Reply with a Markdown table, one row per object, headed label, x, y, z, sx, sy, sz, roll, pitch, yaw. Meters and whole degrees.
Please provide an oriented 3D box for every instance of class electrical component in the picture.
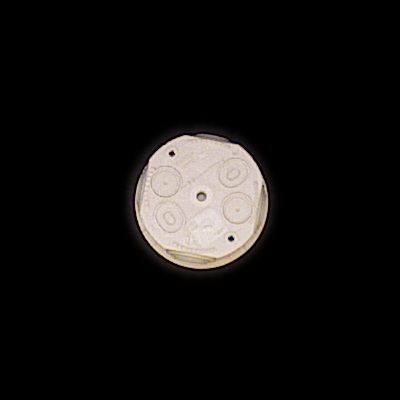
| label | x | y | z | sx | sy | sz | roll | pitch | yaw |
| --- | --- | --- | --- | --- | --- | --- | --- | --- | --- |
| electrical component | 0.000 | 0.000 | 0.634 | 0.080 | 0.080 | 0.050 | 0 | -6 | 0 |
